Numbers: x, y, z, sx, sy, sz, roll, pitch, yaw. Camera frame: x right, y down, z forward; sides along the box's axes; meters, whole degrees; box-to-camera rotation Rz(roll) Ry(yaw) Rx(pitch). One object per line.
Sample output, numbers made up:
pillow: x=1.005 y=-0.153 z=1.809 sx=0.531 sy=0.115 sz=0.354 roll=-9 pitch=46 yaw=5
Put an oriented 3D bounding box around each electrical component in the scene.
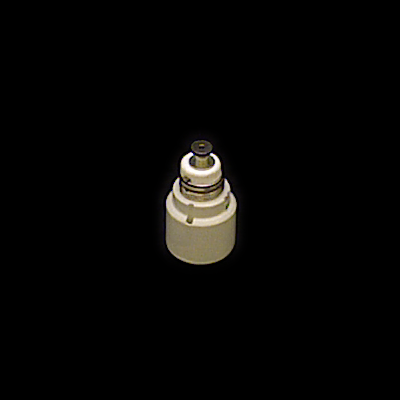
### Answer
electrical component: x=0.000 y=0.000 z=0.623 sx=0.040 sy=0.079 sz=0.039 roll=0 pitch=41 yaw=0
